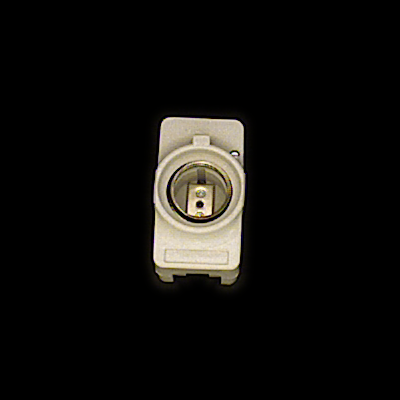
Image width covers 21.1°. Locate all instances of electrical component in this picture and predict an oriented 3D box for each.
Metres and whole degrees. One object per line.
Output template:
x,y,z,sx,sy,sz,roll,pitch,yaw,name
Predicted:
0.000,0.000,0.636,0.050,0.090,0.055,2,-16,1,electrical component
